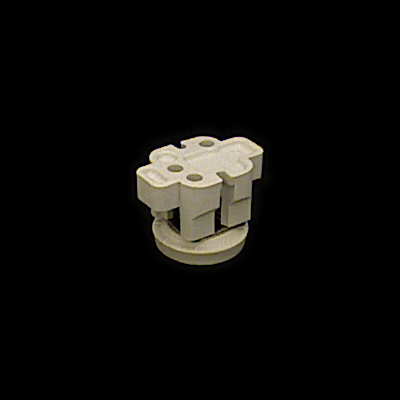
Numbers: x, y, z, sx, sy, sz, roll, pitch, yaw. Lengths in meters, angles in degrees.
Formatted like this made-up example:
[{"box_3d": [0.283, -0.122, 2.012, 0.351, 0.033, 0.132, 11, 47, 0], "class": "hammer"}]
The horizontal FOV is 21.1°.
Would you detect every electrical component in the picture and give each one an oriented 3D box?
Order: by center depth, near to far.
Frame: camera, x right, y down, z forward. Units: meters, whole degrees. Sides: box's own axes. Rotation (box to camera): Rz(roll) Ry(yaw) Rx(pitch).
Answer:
[{"box_3d": [0.000, 0.000, 0.644, 0.079, 0.057, 0.057, -20, 37, -32], "class": "electrical component"}]
